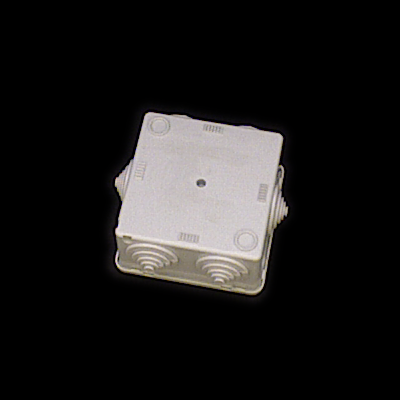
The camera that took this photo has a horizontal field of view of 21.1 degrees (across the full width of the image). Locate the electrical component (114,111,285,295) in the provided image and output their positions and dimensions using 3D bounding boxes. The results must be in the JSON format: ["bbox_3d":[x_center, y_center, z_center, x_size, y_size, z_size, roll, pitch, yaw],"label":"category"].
[{"bbox_3d":[0.000,0.000,0.631,0.099,0.100,0.048,10,-27,5],"label":"electrical component"}]
